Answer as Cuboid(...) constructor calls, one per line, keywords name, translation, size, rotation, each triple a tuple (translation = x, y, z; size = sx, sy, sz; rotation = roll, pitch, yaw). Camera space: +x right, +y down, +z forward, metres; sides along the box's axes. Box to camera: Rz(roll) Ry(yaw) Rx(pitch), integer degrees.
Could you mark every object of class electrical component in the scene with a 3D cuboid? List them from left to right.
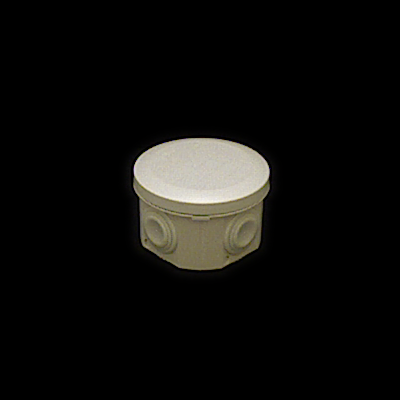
Cuboid(name="electrical component", translation=(0.000, 0.000, 0.638), size=(0.080, 0.051, 0.079), rotation=(1, 31, 0))
